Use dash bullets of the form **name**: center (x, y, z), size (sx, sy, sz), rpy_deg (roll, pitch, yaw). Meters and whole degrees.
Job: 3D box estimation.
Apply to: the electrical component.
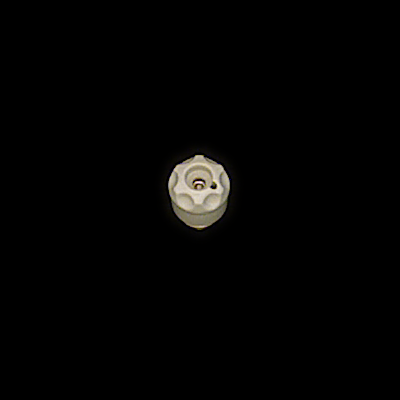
- **electrical component**: center (0.000, 0.000, 0.632), size (0.035, 0.035, 0.061), rpy_deg (0, -26, 0)
